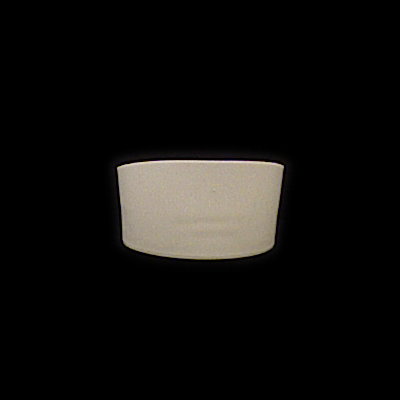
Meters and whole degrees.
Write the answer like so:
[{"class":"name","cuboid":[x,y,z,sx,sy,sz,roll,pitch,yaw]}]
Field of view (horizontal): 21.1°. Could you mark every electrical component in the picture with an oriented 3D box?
[{"class":"electrical component","cuboid":[0.000,0.000,0.643,0.099,0.064,0.098,2,11,0]}]
